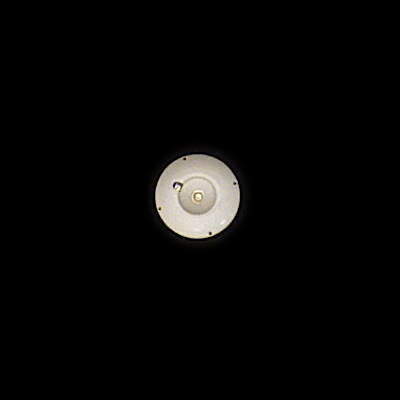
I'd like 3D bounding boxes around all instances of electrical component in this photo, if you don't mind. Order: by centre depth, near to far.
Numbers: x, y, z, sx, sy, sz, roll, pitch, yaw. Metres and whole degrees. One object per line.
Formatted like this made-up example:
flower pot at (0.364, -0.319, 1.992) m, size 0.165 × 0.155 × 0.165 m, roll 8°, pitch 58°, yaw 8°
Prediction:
electrical component at (0.000, 0.000, 0.634) m, size 0.048 × 0.048 × 0.061 m, roll 0°, pitch -6°, yaw 1°
